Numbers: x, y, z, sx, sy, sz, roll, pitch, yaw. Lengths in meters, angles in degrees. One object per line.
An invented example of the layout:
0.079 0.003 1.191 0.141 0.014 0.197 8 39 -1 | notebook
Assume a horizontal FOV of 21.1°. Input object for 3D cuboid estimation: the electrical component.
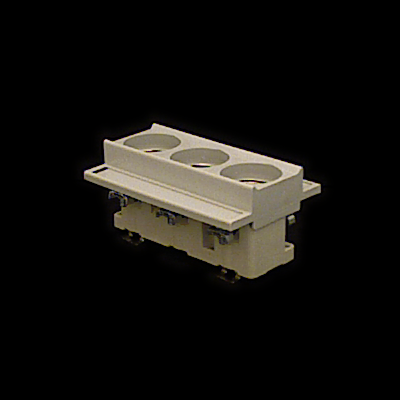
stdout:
0.000 0.000 0.650 0.120 0.064 0.078 20 30 39 | electrical component
